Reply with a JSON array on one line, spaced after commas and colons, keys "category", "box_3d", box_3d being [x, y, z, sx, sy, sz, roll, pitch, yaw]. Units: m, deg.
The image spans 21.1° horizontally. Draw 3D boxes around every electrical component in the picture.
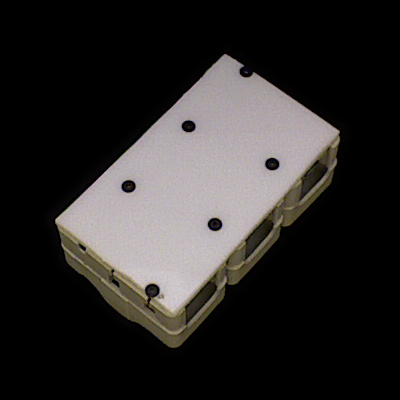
[{"category": "electrical component", "box_3d": [0.000, 0.000, 0.633, 0.089, 0.149, 0.062, 38, -22, 17]}]
